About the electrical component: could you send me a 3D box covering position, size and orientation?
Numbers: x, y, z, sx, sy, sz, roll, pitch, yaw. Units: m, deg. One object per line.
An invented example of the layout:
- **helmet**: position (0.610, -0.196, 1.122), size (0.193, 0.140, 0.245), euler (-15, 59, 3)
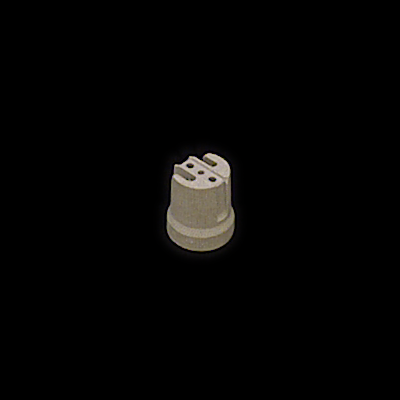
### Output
- **electrical component**: position (0.000, 0.000, 0.637), size (0.040, 0.046, 0.040), euler (1, 42, -1)
